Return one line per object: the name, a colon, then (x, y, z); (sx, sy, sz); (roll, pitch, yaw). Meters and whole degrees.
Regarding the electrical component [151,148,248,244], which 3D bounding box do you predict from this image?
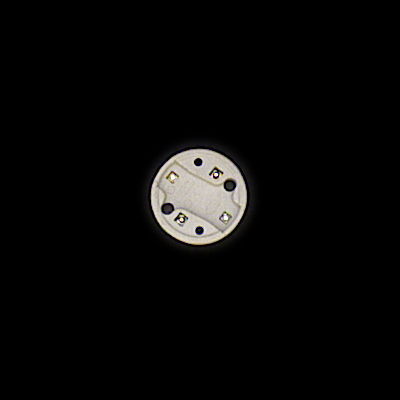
electrical component: (0.000, 0.000, 0.636); (0.055, 0.055, 0.047); (0, -7, 0)
